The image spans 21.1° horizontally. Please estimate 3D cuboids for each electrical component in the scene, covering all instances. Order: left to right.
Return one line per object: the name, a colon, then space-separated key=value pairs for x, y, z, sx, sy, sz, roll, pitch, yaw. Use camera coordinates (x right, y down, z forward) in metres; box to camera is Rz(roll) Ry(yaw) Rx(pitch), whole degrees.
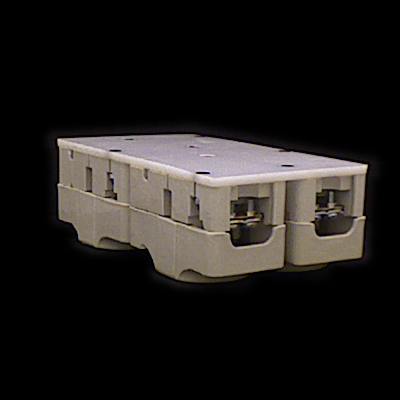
electrical component: x=0.000 y=0.000 z=0.644 sx=0.105 sy=0.061 sz=0.184 roll=-6 pitch=12 yaw=-33
